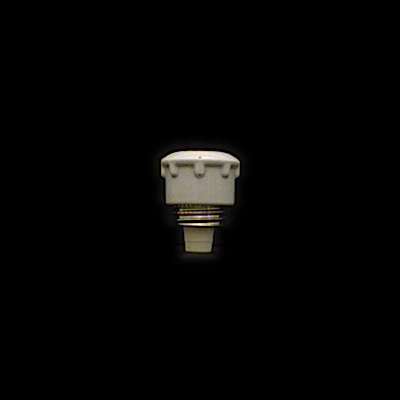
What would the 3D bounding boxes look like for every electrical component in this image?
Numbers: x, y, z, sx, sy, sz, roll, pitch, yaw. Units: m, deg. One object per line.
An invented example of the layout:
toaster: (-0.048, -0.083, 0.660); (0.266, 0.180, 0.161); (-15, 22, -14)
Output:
electrical component: (0.000, 0.000, 0.655); (0.048, 0.062, 0.048); (1, 2, 0)
